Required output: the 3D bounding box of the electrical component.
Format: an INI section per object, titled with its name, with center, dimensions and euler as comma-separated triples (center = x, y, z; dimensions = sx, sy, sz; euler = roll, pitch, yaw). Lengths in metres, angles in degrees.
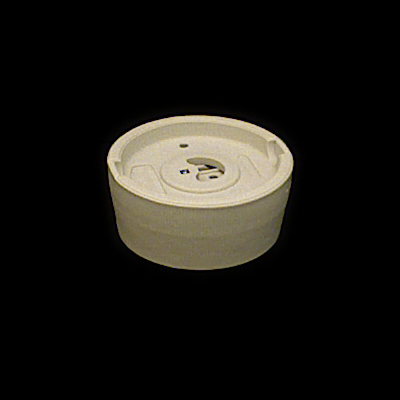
[electrical component]
center = 0.000, 0.000, 0.638
dimensions = 0.108, 0.061, 0.106
euler = 2, 32, 0
